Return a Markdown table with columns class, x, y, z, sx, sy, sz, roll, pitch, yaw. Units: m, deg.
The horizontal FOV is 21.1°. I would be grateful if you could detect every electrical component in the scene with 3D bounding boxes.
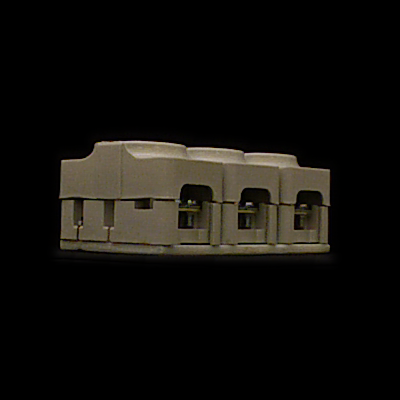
| class | x | y | z | sx | sy | sz | roll | pitch | yaw |
| --- | --- | --- | --- | --- | --- | --- | --- | --- | --- |
| electrical component | 0.001 | 0.000 | 0.657 | 0.089 | 0.062 | 0.151 | 0 | -2 | 42 |
